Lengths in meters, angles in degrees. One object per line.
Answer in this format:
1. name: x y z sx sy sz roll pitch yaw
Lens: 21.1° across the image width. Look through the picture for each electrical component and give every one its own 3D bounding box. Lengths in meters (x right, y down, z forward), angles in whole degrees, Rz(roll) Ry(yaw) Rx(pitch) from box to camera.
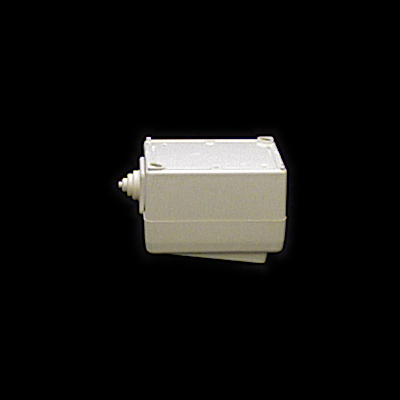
1. electrical component: 0.000 0.000 0.636 0.096 0.061 0.061 0 21 -4
